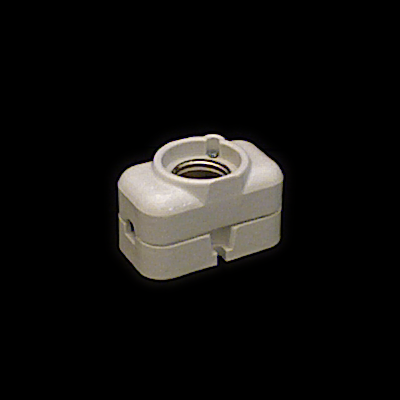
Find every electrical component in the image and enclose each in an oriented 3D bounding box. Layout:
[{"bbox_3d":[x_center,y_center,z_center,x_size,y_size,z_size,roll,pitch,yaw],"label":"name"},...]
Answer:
[{"bbox_3d":[0.000,0.000,0.642,0.096,0.060,0.052,-16,36,-26],"label":"electrical component"}]
